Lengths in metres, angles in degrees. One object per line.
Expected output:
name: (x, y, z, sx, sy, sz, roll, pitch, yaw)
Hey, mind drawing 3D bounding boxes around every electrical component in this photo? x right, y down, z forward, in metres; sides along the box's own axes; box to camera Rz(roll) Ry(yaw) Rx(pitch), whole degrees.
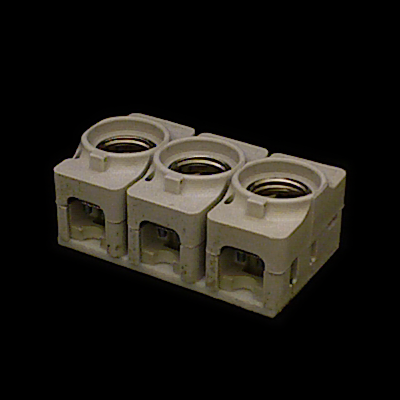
electrical component: (0.000, 0.000, 0.639, 0.149, 0.063, 0.088, 17, 35, 25)
